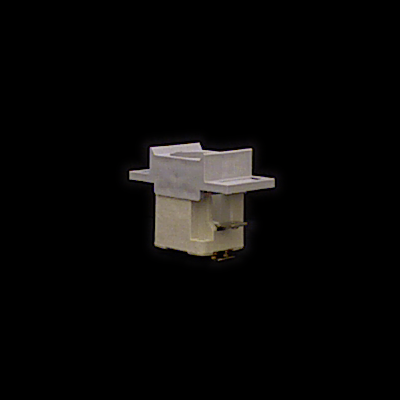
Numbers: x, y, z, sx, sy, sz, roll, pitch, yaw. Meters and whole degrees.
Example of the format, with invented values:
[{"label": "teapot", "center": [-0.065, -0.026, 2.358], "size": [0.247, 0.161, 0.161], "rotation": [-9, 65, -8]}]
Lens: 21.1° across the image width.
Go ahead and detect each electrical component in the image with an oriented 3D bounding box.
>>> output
[{"label": "electrical component", "center": [0.000, 0.000, 0.642], "size": [0.080, 0.064, 0.042], "rotation": [10, 13, 43]}]
